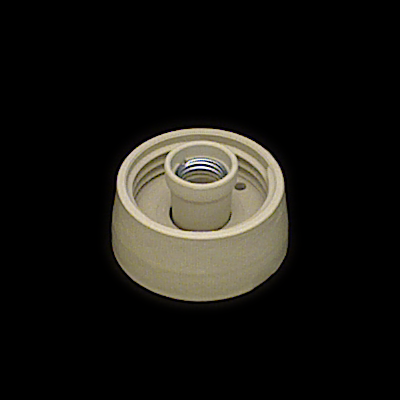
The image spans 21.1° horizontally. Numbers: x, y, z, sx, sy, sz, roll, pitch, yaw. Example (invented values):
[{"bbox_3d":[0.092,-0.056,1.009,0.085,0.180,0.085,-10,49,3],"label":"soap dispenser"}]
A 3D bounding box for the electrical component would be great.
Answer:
[{"bbox_3d":[0.000,0.000,0.637,0.108,0.061,0.107,1,42,0],"label":"electrical component"}]
